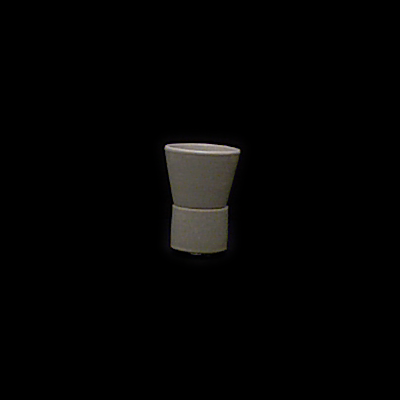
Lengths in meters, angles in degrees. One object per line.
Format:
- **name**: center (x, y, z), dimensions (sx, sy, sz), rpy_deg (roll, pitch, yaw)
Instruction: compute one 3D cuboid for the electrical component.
- **electrical component**: center (0.000, 0.000, 0.646), dimensions (0.044, 0.066, 0.044), rpy_deg (2, 10, 0)
